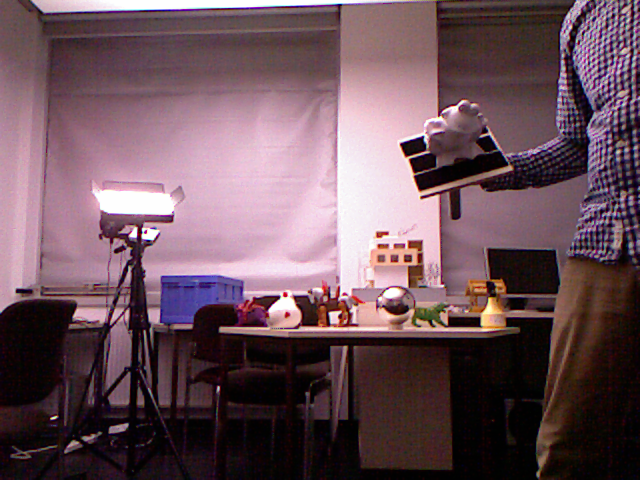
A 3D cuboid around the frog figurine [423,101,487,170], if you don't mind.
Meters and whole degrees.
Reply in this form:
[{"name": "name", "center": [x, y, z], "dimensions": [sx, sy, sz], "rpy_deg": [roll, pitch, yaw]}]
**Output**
[{"name": "frog figurine", "center": [0.295, -0.248, 1.131], "dimensions": [0.137, 0.126, 0.156], "rpy_deg": [-3, -40, 13]}]
